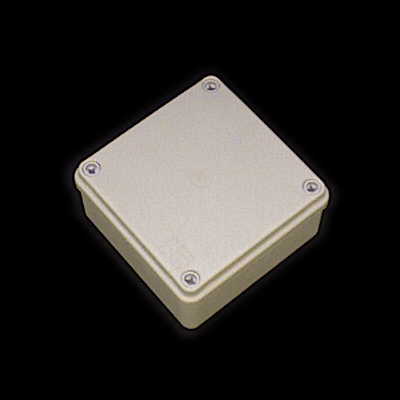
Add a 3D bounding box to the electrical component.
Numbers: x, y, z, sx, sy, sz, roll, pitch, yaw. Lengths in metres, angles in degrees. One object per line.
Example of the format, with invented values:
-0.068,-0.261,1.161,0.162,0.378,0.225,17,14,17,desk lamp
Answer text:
0.000,0.000,0.630,0.109,0.108,0.056,-36,-22,-18,electrical component
